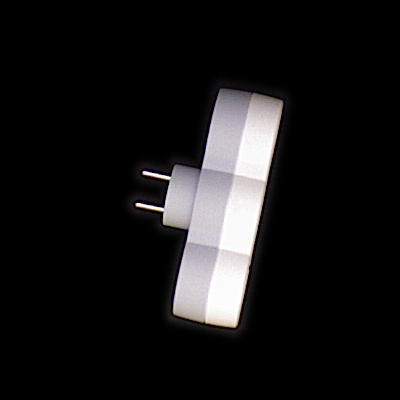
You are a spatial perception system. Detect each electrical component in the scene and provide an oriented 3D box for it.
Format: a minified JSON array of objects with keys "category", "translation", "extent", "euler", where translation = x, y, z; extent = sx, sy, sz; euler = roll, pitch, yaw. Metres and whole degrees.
[{"category":"electrical component","translation":[0.000,0.000,0.631],"extent":[0.074,0.138,0.052],"euler":[11,-6,3]}]
